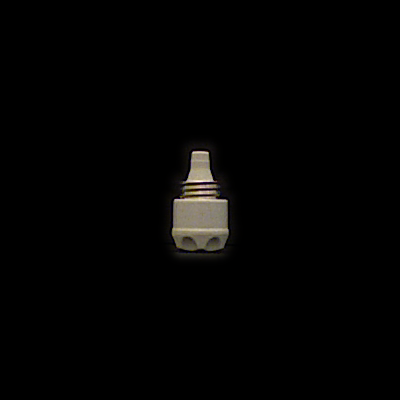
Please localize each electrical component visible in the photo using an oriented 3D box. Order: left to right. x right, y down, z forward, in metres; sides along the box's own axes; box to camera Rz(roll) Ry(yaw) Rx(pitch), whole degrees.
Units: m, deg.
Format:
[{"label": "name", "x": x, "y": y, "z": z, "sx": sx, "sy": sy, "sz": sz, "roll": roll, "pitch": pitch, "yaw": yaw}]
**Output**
[{"label": "electrical component", "x": 0.000, "y": 0.000, "z": 0.662, "sx": 0.035, "sy": 0.061, "sz": 0.035, "roll": 0, "pitch": 2, "yaw": 0}]
